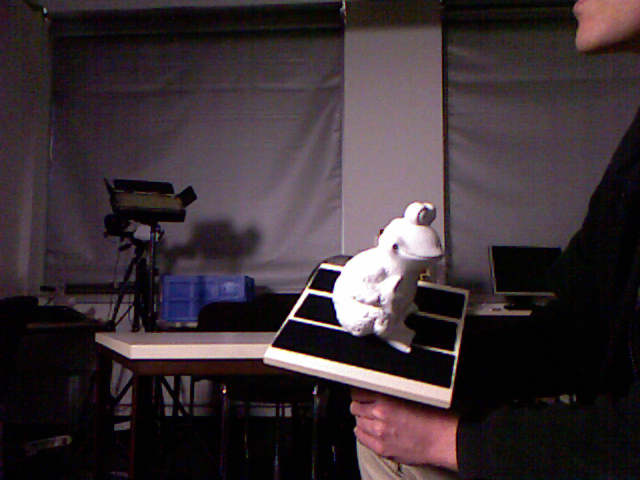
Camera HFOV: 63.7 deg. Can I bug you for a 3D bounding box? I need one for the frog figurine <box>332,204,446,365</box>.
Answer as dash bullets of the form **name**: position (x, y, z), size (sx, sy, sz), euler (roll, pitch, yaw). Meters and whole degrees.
- **frog figurine**: position (0.074, 0.035, 0.576), size (0.123, 0.156, 0.140), euler (16, 34, 27)
